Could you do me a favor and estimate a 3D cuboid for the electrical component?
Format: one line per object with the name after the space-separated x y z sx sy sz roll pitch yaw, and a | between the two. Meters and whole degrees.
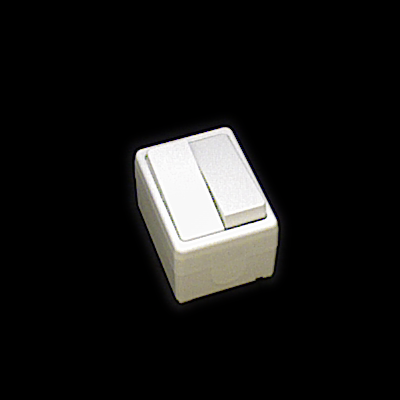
0.000 0.000 0.630 0.062 0.096 0.061 -15 -36 -12 | electrical component
